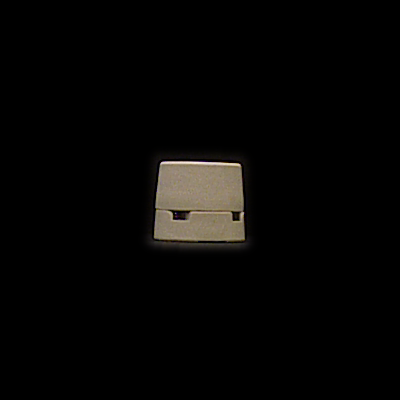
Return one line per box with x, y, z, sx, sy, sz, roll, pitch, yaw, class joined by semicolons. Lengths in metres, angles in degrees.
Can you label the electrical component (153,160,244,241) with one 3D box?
0.000;0.000;0.649;0.055;0.047;0.055;1;2;0;electrical component
